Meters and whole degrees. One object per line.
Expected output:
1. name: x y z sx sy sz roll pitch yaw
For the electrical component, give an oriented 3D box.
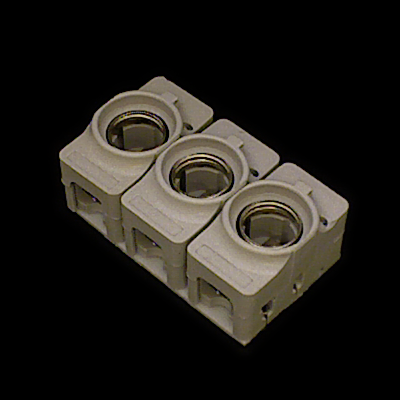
1. electrical component: 0.000 0.000 0.634 0.149 0.062 0.089 36 59 23
